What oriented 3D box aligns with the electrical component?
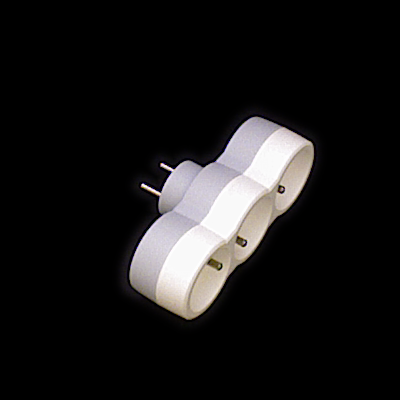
[{"bbox_3d":[0.000,0.000,0.630,0.073,0.138,0.052,28,-32,22],"label":"electrical component"}]
